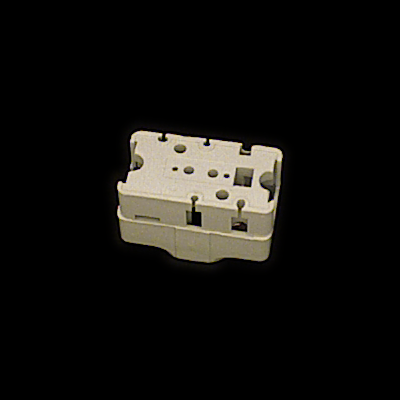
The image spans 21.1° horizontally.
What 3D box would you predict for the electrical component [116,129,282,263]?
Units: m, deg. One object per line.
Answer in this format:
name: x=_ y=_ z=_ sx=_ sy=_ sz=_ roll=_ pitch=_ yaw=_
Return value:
electrical component: x=0.000 y=0.000 z=0.638 sx=0.089 sy=0.050 sz=0.056 roll=8 pitch=-37 yaw=5
